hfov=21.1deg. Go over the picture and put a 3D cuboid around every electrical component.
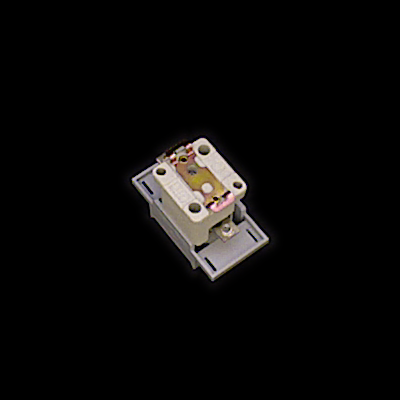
[{"bbox_3d":[0.000,0.000,0.625,0.042,0.081,0.063,-34,-22,-16],"label":"electrical component"}]
